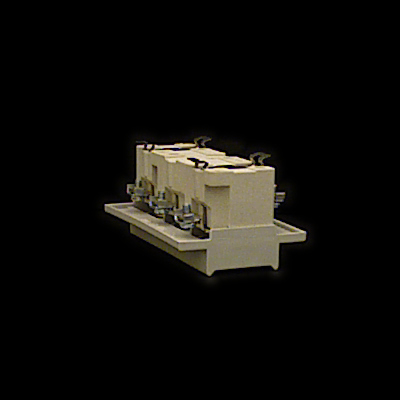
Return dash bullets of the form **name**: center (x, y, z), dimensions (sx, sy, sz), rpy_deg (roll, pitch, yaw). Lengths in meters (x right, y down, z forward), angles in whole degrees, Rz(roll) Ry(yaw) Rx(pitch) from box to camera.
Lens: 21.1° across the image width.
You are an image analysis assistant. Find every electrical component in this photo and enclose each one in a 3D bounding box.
- **electrical component**: center (0.000, 0.000, 0.649), dimensions (0.079, 0.063, 0.119), rpy_deg (-5, 12, -24)
